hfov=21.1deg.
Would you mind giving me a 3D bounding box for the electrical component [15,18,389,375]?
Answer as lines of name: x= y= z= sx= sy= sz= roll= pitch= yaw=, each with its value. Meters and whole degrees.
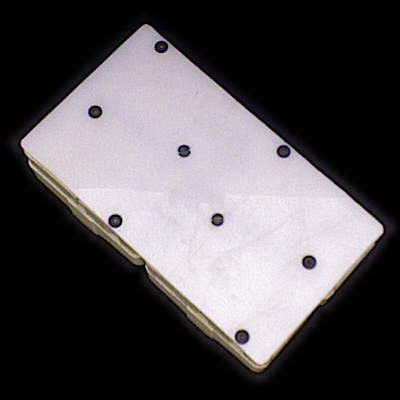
electrical component: x=0.000 y=0.000 z=0.625 sx=0.186 sy=0.106 sz=0.060 roll=42 pitch=-13 yaw=11
